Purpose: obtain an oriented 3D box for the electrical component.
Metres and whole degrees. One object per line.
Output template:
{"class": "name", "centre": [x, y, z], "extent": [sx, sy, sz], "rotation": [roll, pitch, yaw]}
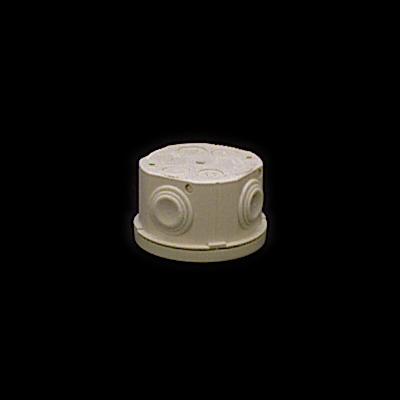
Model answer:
{"class": "electrical component", "centre": [0.000, 0.000, 0.640], "extent": [0.080, 0.051, 0.079], "rotation": [0, 21, 0]}
